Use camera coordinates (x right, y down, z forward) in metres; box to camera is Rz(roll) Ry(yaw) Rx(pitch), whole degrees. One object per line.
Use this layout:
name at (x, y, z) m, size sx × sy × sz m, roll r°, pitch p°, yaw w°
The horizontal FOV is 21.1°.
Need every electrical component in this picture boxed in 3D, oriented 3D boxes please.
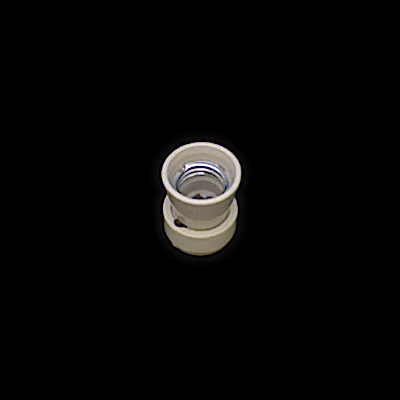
electrical component at (0.000, 0.000, 0.630) m, size 0.045 × 0.044 × 0.055 m, roll 0°, pitch -37°, yaw -1°
